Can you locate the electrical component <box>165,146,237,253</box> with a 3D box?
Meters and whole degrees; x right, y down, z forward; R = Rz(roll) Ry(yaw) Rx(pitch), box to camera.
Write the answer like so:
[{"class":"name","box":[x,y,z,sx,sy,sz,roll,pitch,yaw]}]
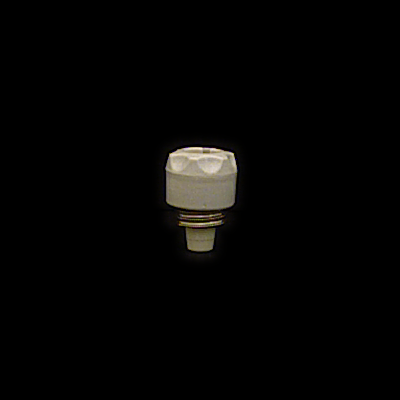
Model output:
[{"class":"electrical component","box":[0.000,0.000,0.650,0.043,0.062,0.043,1,13,0]}]
